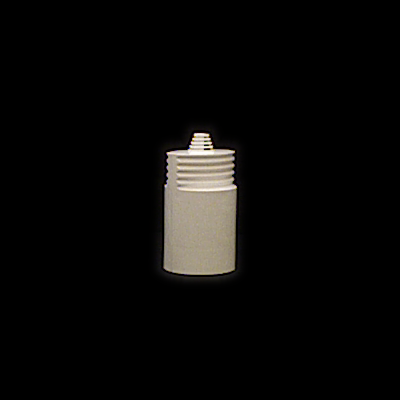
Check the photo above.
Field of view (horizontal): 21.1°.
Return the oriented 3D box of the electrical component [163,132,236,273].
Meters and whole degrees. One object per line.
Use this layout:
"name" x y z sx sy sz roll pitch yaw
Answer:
"electrical component" 0.000 0.000 0.643 0.043 0.081 0.043 1 11 0
